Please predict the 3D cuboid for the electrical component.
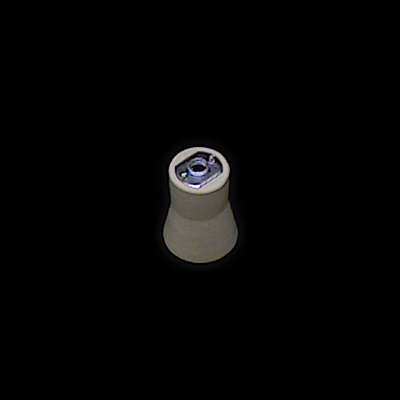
[{"bbox_3d":[0.000,0.000,0.627,0.044,0.044,0.065,0,-39,1],"label":"electrical component"}]
